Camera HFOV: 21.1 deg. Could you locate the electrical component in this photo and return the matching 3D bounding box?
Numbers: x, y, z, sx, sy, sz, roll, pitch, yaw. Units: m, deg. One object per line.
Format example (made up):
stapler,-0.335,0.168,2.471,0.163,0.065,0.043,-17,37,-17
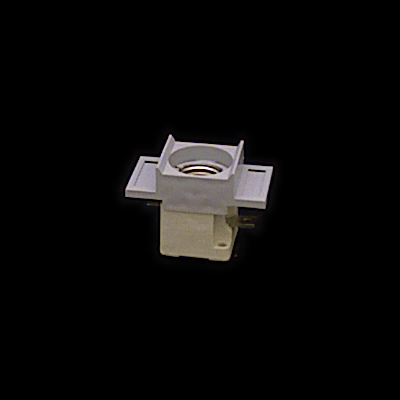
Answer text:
electrical component,0.000,0.000,0.633,0.081,0.064,0.041,5,31,8
